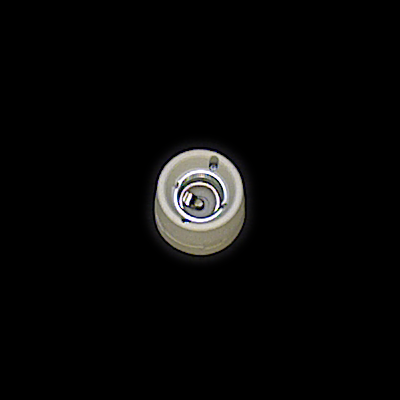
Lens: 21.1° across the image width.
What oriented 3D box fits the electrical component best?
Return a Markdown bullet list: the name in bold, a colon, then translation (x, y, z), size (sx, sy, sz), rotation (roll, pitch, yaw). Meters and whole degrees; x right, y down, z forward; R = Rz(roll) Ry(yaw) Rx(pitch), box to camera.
- **electrical component**: translation (0.000, 0.000, 0.633), size (0.055, 0.056, 0.047), rotation (0, -18, -1)
